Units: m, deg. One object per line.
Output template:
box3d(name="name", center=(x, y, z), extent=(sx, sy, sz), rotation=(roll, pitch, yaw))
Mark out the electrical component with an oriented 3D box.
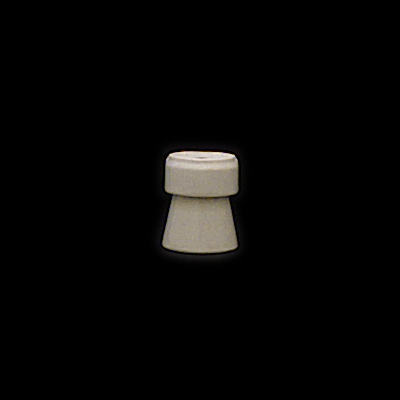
box3d(name="electrical component", center=(0.000, 0.000, 0.646), extent=(0.045, 0.055, 0.044), rotation=(2, 11, 0))
